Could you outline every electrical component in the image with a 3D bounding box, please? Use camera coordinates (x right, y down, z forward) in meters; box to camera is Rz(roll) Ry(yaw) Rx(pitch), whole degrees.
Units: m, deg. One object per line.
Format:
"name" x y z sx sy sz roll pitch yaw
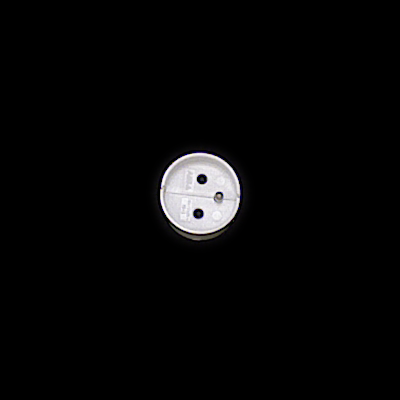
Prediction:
"electrical component" 0.000 0.000 0.616 0.043 0.043 0.080 0 -6 0
